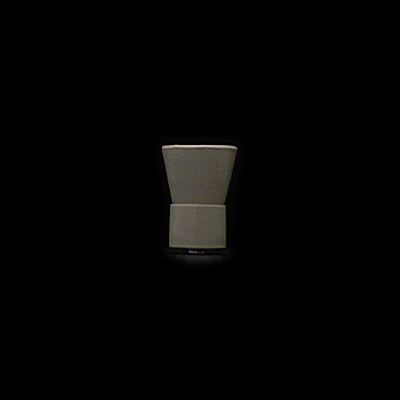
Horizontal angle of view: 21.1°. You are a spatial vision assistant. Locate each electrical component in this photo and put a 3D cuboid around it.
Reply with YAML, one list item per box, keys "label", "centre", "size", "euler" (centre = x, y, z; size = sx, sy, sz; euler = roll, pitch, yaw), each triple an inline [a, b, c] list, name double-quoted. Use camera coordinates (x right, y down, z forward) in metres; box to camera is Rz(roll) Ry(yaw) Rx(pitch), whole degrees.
- label: "electrical component"
  centre: [0.000, 0.000, 0.647]
  size: [0.044, 0.065, 0.044]
  euler: [1, 2, 0]
